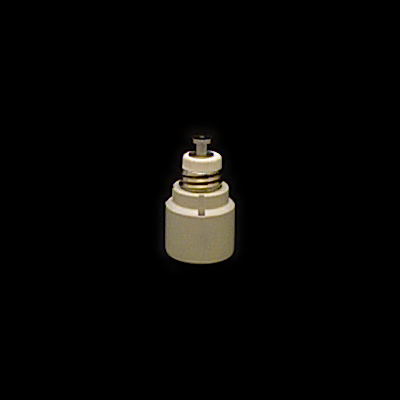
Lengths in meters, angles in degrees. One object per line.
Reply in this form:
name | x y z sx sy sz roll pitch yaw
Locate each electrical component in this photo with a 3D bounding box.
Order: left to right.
electrical component | 0.000 0.000 0.637 0.040 0.079 0.039 1 22 0
